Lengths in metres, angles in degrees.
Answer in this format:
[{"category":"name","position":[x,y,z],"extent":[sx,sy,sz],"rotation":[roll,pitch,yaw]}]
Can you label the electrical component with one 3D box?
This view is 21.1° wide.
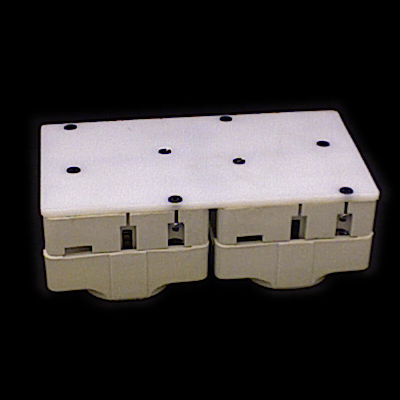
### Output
[{"category":"electrical component","position":[0.000,0.000,0.633],"extent":[0.186,0.061,0.104],"rotation":[-3,31,-7]}]
